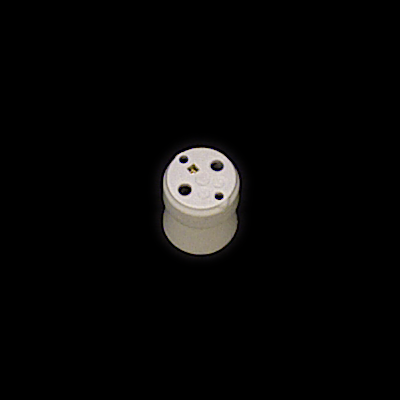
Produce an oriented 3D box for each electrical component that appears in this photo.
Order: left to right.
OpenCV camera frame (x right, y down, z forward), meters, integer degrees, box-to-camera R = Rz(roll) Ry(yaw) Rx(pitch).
[{"bbox_3d":[0.000,0.000,0.629,0.045,0.045,0.055,0,-27,-1],"label":"electrical component"}]
